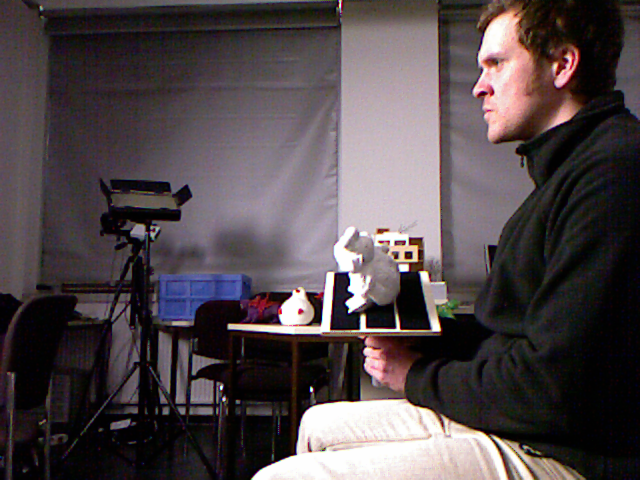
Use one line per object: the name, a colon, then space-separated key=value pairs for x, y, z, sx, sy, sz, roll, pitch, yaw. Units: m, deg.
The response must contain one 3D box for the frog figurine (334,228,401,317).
frog figurine: x=0.088 y=0.045 z=0.922 sx=0.123 sy=0.156 sz=0.140 roll=11 pitch=33 yaw=21
